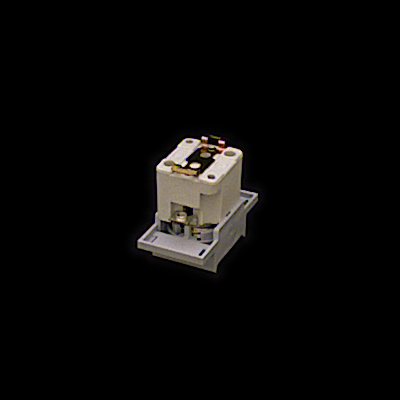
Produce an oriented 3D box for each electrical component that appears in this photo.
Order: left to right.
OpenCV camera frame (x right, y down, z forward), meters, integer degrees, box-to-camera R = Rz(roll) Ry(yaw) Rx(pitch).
[{"bbox_3d":[0.000,0.000,0.633,0.042,0.064,0.080,14,33,21],"label":"electrical component"}]
